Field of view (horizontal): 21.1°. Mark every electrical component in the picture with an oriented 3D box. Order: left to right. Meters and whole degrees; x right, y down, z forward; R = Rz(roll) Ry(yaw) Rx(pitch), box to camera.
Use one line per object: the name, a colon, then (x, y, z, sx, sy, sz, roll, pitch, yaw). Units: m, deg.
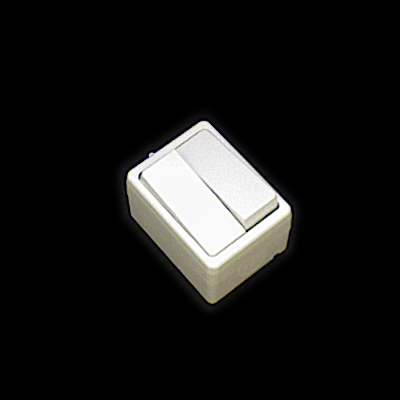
electrical component: (0.000, 0.000, 0.627, 0.062, 0.096, 0.061, -36, -22, -17)
